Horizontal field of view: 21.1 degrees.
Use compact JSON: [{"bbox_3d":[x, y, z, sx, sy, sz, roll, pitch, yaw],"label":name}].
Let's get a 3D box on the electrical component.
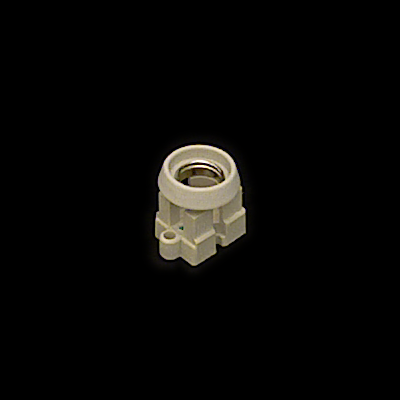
[{"bbox_3d":[0.000,0.000,0.641,0.067,0.056,0.048,-33,54,-31],"label":"electrical component"}]
